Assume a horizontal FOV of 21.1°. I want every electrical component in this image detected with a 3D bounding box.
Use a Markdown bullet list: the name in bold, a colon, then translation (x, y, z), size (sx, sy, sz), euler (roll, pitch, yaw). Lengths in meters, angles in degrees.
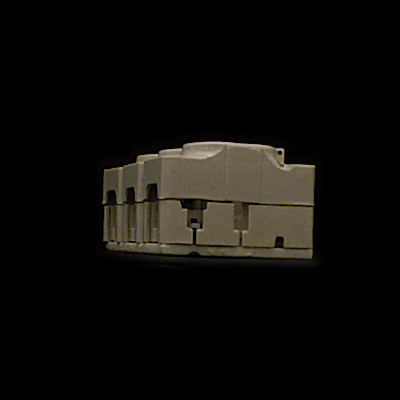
- **electrical component**: translation (0.000, 0.000, 0.658), size (0.090, 0.062, 0.150), euler (2, 0, -18)
